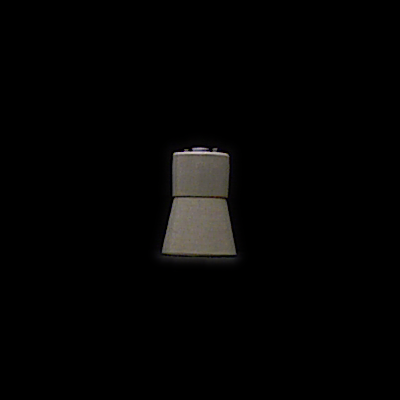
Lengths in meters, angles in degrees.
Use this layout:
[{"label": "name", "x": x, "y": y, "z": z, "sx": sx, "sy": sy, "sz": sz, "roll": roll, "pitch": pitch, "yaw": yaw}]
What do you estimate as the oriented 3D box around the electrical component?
[{"label": "electrical component", "x": 0.000, "y": 0.000, "z": 0.651, "sx": 0.044, "sy": 0.065, "sz": 0.044, "roll": 2, "pitch": 0, "yaw": 0}]
